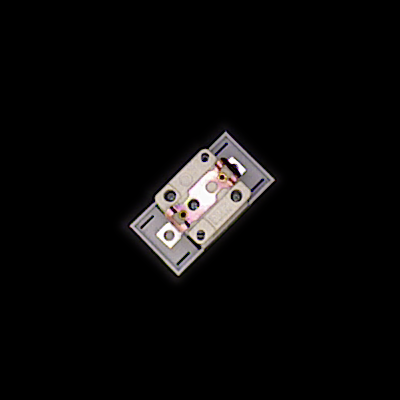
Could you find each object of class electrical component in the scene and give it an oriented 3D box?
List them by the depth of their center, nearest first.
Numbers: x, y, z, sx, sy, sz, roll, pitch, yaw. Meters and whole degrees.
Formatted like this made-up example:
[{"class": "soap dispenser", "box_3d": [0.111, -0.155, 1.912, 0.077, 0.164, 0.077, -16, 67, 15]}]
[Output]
[{"class": "electrical component", "box_3d": [0.000, 0.000, 0.626, 0.042, 0.081, 0.063, 44, -4, 5]}]
